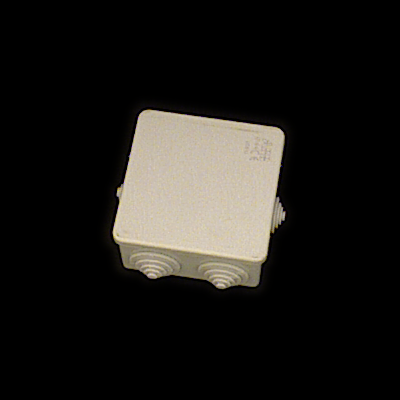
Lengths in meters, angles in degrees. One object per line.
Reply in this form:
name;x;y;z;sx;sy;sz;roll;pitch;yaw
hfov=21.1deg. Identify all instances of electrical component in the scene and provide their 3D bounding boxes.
electrical component;0.000;0.000;0.641;0.099;0.100;0.048;9;-26;4
